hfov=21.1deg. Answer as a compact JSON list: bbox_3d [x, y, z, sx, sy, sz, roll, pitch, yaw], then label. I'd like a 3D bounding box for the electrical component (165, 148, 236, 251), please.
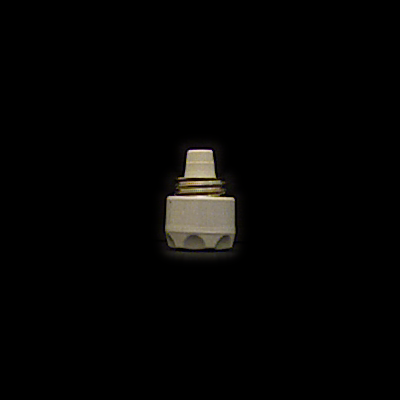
[{"bbox_3d":[0.000,0.000,0.656,0.043,0.062,0.043,0,2,1],"label":"electrical component"}]
